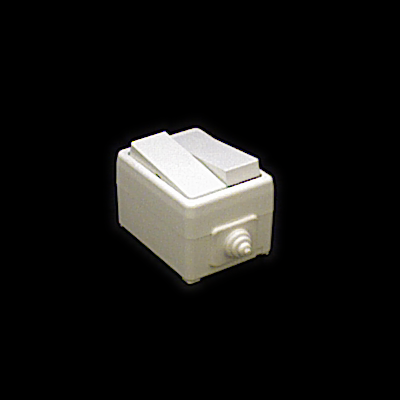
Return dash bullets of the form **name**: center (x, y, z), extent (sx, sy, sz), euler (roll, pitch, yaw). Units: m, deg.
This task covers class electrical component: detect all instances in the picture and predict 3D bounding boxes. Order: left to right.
- **electrical component**: center (0.000, 0.000, 0.632), extent (0.061, 0.061, 0.095), euler (-19, 36, -29)
